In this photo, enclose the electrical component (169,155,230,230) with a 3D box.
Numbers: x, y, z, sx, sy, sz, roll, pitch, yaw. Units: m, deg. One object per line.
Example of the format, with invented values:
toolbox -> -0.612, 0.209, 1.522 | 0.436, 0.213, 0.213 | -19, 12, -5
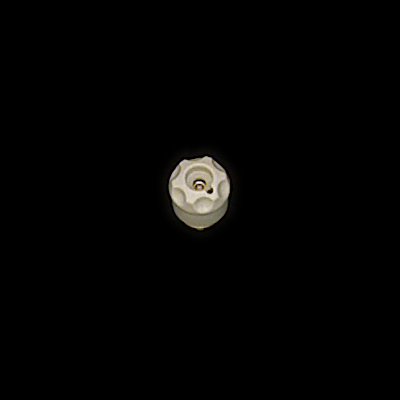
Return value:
electrical component -> 0.000, 0.000, 0.632 | 0.035, 0.035, 0.061 | 0, -26, 0
